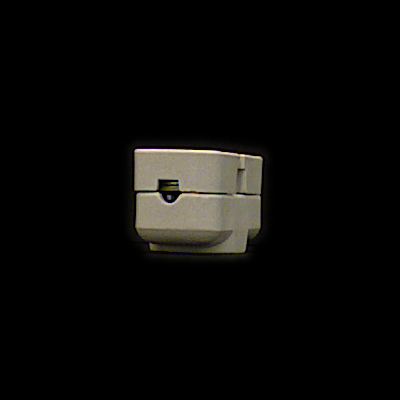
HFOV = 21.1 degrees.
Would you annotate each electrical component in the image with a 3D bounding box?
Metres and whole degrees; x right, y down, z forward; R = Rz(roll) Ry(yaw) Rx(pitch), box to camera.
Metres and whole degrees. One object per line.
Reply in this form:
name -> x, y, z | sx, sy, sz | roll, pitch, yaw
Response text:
electrical component -> 0.000, 0.000, 0.656 | 0.053, 0.059, 0.096 | 2, 1, 22
